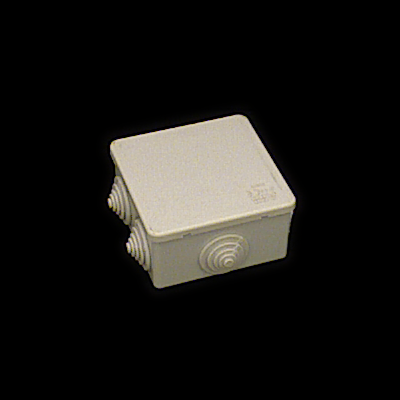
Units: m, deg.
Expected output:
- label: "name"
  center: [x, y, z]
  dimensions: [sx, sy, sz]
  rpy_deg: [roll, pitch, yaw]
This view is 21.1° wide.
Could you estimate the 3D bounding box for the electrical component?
- label: "electrical component"
  center: [0.000, 0.000, 0.642]
  dimensions: [0.100, 0.049, 0.098]
  rpy_deg: [-13, 45, -15]
